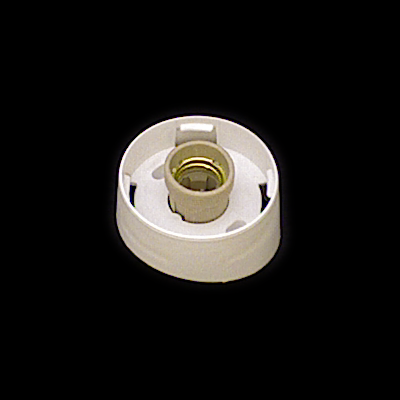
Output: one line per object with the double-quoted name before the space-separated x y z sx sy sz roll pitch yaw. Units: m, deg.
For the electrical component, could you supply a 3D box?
"electrical component" 0.000 0.000 0.626 0.099 0.098 0.064 0 -38 -1
